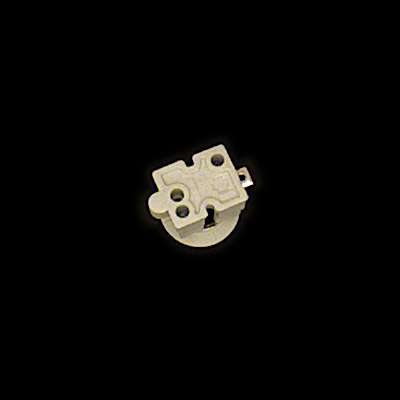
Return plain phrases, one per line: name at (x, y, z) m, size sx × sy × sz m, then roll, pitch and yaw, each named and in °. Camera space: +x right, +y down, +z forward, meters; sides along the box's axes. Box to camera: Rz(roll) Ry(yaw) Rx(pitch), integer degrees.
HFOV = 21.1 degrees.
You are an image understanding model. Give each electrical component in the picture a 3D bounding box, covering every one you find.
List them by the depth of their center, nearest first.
electrical component at (0.000, 0.000, 0.637) m, size 0.067 × 0.048 × 0.055 m, roll -22°, pitch -16°, yaw -7°
